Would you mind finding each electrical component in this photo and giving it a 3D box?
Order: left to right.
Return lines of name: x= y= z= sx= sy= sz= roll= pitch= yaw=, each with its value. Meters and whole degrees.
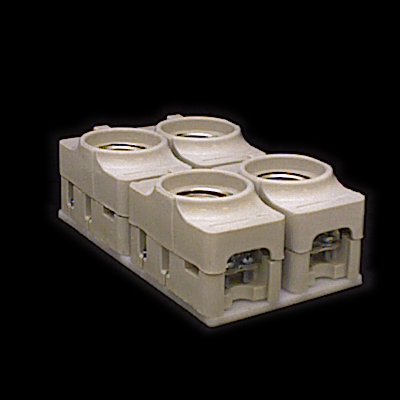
electrical component: x=0.000 y=0.000 z=0.638 sx=0.105 sy=0.061 sz=0.184 roll=-12 pitch=24 yaw=-30
